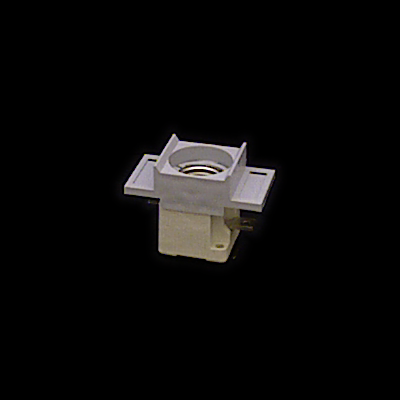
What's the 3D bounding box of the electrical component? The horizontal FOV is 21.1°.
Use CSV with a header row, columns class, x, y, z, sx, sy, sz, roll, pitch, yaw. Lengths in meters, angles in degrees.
class,x,y,z,sx,sy,sz,roll,pitch,yaw
electrical component,0.000,0.000,0.633,0.081,0.064,0.041,8,31,12
